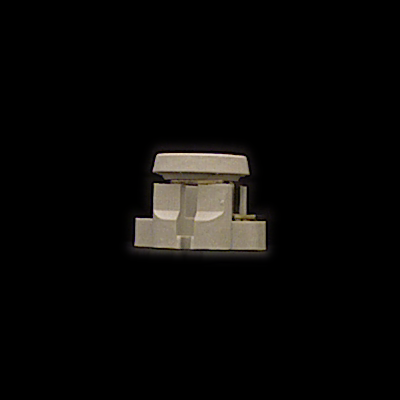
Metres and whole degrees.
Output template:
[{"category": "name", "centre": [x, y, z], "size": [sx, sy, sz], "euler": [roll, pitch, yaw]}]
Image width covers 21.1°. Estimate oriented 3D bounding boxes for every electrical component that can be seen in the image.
[{"category": "electrical component", "centre": [0.000, 0.000, 0.650], "size": [0.078, 0.057, 0.058], "euler": [1, 1, 19]}]
